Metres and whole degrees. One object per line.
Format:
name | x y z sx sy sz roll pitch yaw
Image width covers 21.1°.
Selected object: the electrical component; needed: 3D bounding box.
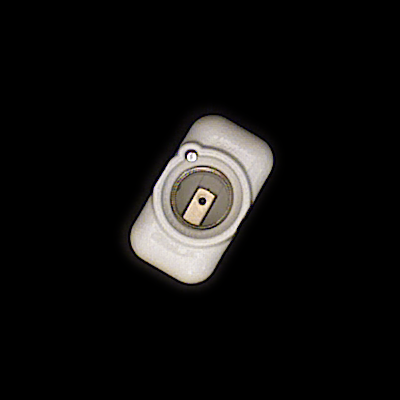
electrical component | 0.000 0.000 0.635 0.053 0.095 0.059 29 -5 3
